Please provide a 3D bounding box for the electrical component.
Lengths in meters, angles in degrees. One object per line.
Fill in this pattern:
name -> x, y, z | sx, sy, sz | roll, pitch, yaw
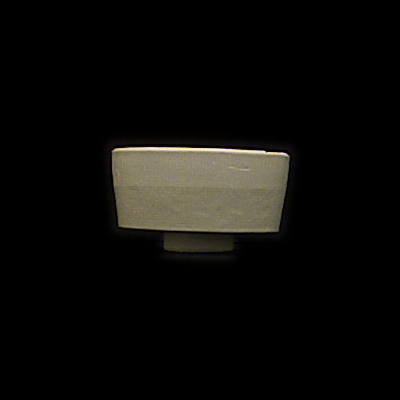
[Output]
electrical component -> 0.000, 0.000, 0.655 | 0.108, 0.060, 0.108 | 2, 1, 1
